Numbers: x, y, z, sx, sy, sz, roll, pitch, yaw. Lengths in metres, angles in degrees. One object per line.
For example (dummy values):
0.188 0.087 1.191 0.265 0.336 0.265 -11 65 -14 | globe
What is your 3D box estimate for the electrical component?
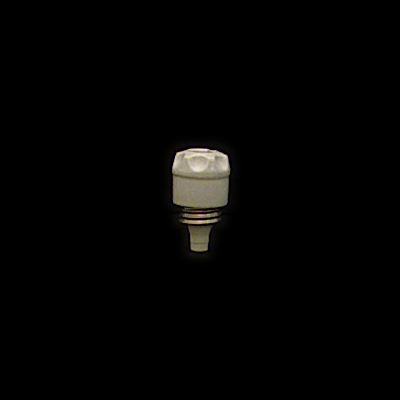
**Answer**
0.000 0.000 0.652 0.035 0.062 0.035 1 12 0 | electrical component
